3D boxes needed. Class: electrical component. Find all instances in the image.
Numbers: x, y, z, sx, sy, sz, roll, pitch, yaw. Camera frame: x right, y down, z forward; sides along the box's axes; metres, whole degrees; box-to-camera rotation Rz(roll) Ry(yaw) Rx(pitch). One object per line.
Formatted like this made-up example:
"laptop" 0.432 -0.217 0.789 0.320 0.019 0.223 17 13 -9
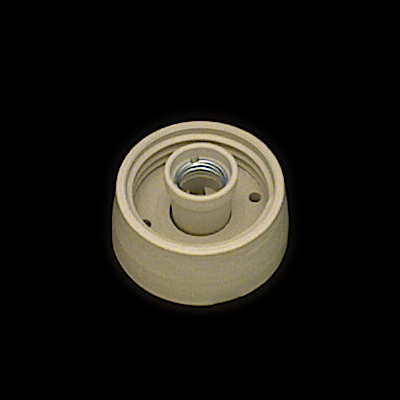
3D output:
"electrical component" 0.000 0.000 0.634 0.108 0.107 0.060 0 -37 -1
